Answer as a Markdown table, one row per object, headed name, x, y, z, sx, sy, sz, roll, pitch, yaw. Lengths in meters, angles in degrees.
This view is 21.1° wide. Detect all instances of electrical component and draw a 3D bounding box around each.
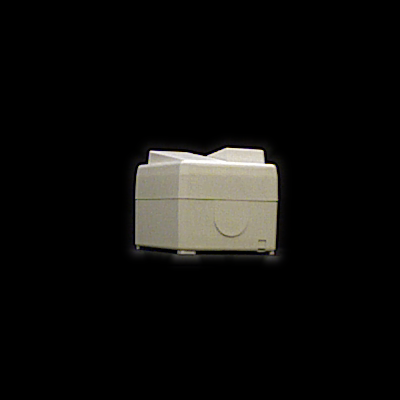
| name | x | y | z | sx | sy | sz | roll | pitch | yaw |
| --- | --- | --- | --- | --- | --- | --- | --- | --- | --- |
| electrical component | 0.000 | 0.000 | 0.652 | 0.062 | 0.061 | 0.096 | 1 | 0 | -23 |
